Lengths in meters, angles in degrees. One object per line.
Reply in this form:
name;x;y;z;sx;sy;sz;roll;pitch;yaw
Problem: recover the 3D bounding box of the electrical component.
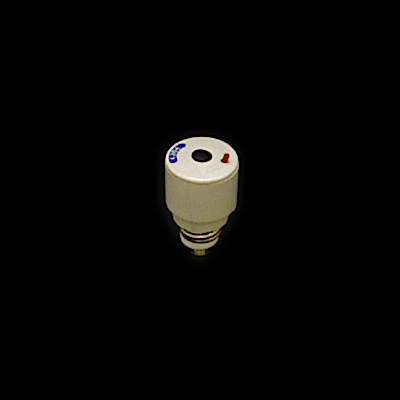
electrical component;0.000;0.000;0.623;0.040;0.079;0.039;1;42;-1
